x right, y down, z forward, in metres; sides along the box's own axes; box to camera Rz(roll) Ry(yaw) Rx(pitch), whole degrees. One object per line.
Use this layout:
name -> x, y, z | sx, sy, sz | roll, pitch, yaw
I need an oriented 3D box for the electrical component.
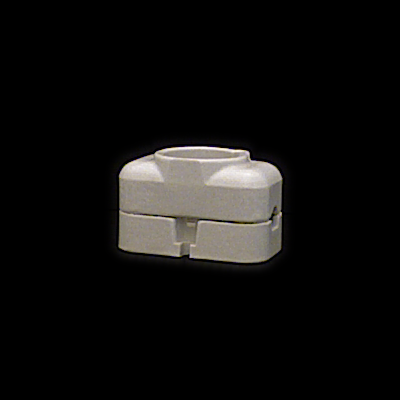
electrical component -> 0.000, 0.000, 0.652 | 0.094, 0.060, 0.053 | 5, 13, 18
